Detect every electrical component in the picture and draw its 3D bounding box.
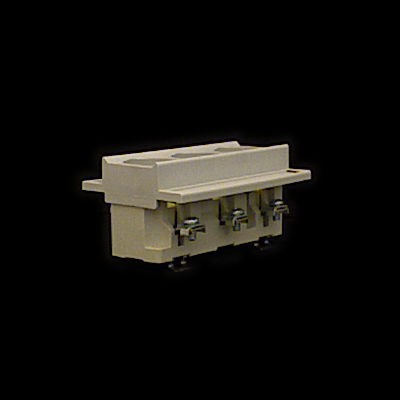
[{"bbox_3d":[0.000,0.000,0.657,0.078,0.063,0.121,9,13,40],"label":"electrical component"}]
